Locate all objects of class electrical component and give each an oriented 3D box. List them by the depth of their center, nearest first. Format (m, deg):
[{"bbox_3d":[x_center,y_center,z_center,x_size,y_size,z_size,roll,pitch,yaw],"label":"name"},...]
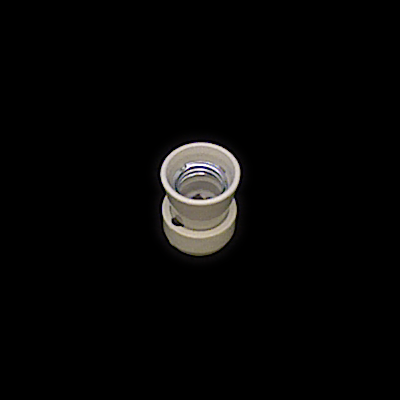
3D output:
[{"bbox_3d":[0.000,0.000,0.630,0.045,0.044,0.055,0,-37,-1],"label":"electrical component"}]
